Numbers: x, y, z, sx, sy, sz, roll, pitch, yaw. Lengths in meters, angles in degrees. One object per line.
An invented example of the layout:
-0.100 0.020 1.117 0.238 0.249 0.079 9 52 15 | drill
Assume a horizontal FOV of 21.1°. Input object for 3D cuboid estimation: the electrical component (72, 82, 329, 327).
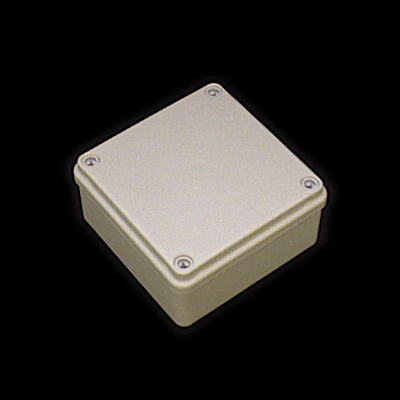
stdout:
0.000 0.000 0.629 0.109 0.108 0.056 -31 -31 -22 | electrical component
